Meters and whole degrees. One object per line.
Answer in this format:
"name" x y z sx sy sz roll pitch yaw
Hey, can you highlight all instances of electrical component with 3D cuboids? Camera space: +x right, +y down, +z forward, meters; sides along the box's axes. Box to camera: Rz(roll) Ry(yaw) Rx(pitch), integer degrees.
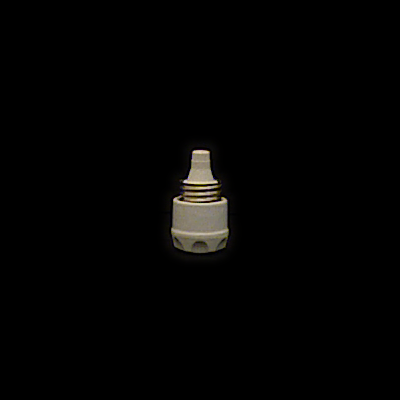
"electrical component" 0.000 0.000 0.655 0.035 0.062 0.035 1 10 0
